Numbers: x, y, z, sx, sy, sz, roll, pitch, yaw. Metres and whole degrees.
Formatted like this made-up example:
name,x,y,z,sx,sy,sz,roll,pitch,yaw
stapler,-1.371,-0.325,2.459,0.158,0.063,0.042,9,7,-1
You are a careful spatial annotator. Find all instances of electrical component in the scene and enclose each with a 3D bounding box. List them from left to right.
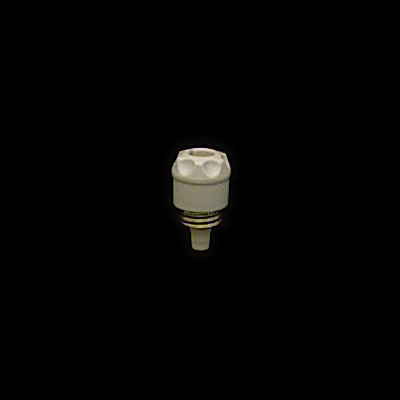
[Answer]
name,x,y,z,sx,sy,sz,roll,pitch,yaw
electrical component,0.000,0.000,0.648,0.035,0.062,0.034,1,22,0
